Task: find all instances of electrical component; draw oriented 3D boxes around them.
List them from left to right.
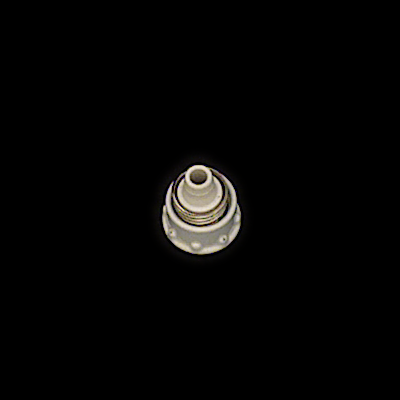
[{"bbox_3d":[0.000,0.000,0.633,0.048,0.048,0.062,0,-27,2],"label":"electrical component"}]
